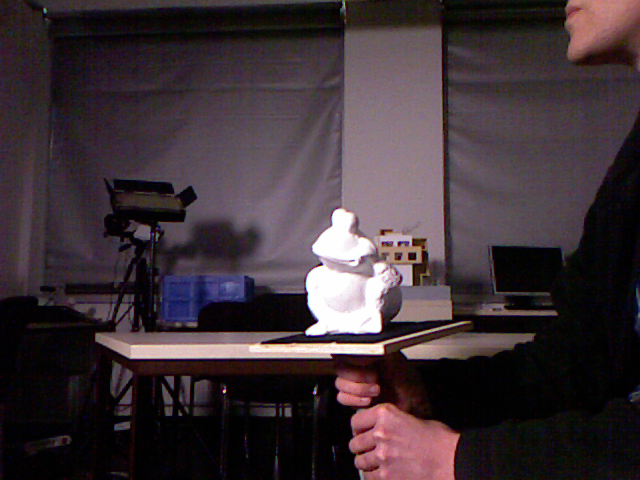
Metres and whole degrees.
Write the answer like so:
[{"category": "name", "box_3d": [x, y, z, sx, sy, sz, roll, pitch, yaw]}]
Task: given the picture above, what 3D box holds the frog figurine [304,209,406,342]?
[{"category": "frog figurine", "box_3d": [0.039, 0.041, 0.648, 0.123, 0.160, 0.137, -4, -2, -40]}]
